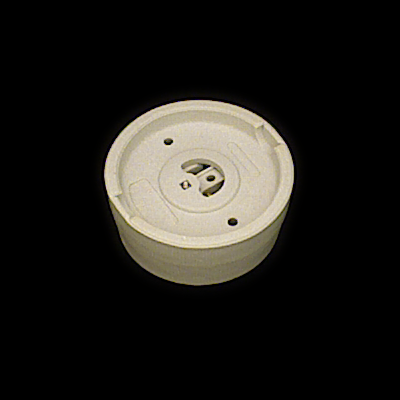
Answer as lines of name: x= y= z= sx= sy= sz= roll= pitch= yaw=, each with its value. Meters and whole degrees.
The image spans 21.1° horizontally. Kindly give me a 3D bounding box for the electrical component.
electrical component: x=0.000 y=0.000 z=0.633 sx=0.108 sy=0.107 sz=0.060 roll=0 pitch=-37 yaw=-1
